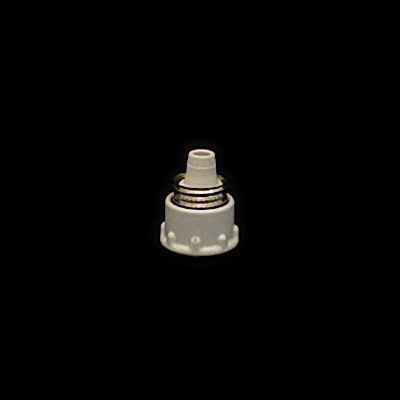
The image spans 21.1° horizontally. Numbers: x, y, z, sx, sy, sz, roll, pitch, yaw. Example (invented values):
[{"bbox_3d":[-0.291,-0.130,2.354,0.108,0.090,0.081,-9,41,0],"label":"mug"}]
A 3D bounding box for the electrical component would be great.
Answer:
[{"bbox_3d":[0.000,0.000,0.647,0.048,0.063,0.047,2,21,0],"label":"electrical component"}]
